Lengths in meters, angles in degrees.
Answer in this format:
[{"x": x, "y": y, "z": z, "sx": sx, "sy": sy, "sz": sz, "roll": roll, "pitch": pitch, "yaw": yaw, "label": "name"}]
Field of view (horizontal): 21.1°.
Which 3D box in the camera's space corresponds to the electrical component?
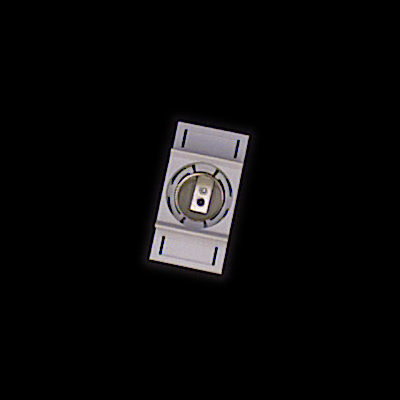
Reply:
[{"x": 0.000, "y": 0.000, "z": 0.625, "sx": 0.042, "sy": 0.081, "sz": 0.063, "roll": 12, "pitch": -6, "yaw": 2, "label": "electrical component"}]
